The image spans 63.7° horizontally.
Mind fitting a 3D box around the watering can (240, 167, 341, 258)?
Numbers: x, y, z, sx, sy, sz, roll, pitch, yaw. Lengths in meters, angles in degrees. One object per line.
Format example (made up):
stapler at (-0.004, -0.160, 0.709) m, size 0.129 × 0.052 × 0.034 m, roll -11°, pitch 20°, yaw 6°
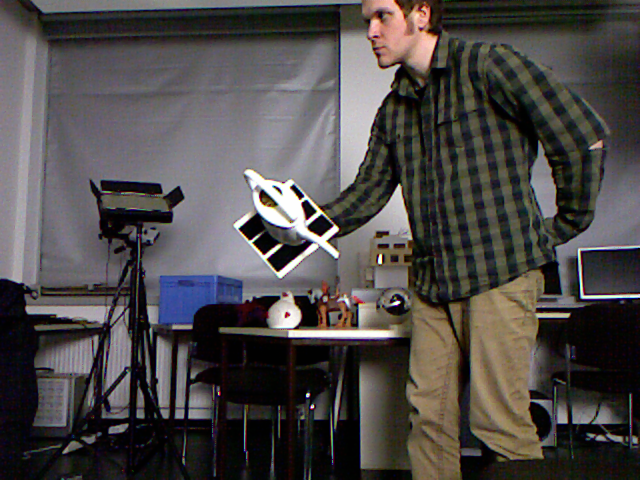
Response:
watering can at (-0.075, -0.047, 1.278) m, size 0.352 × 0.105 × 0.221 m, roll 44°, pitch -11°, yaw 19°
